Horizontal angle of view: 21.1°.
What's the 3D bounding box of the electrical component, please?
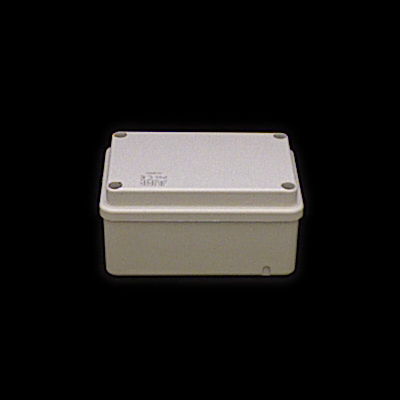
[{"bbox_3d":[0.000,0.000,0.632,0.113,0.058,0.077,0,31,-2],"label":"electrical component"}]
